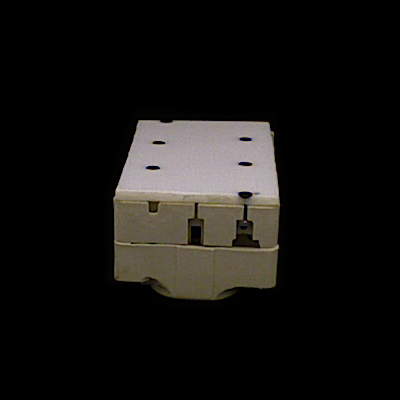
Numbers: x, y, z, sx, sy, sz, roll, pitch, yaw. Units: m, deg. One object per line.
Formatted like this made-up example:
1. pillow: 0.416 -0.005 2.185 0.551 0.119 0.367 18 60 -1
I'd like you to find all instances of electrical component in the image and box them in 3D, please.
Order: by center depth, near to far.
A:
1. electrical component: 0.000 0.000 0.648 0.089 0.063 0.147 2 20 1
